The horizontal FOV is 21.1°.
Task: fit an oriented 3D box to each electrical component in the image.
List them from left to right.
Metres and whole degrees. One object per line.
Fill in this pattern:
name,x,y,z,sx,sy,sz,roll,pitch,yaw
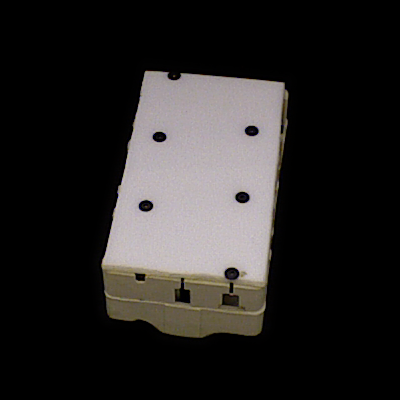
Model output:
electrical component,0.000,0.000,0.635,0.089,0.148,0.063,6,-38,4
